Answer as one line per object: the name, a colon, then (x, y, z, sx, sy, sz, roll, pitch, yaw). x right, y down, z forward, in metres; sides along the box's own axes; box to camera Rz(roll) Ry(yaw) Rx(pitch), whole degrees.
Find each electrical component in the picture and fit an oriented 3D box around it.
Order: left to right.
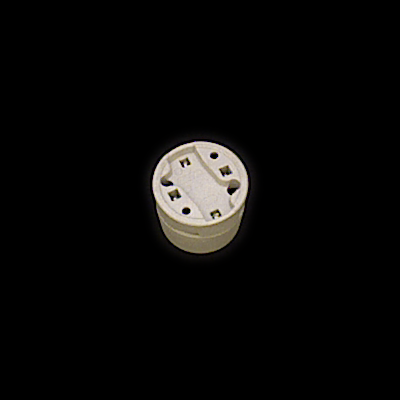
electrical component: (0.000, 0.000, 0.634, 0.055, 0.056, 0.047, 0, -27, -1)
